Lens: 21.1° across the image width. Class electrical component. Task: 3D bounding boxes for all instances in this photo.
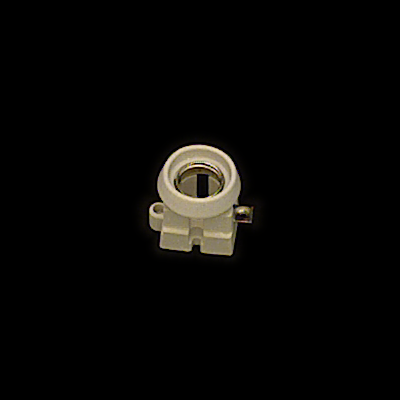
[{"bbox_3d":[0.000,0.000,0.639,0.066,0.048,0.056,5,-35,3],"label":"electrical component"}]
